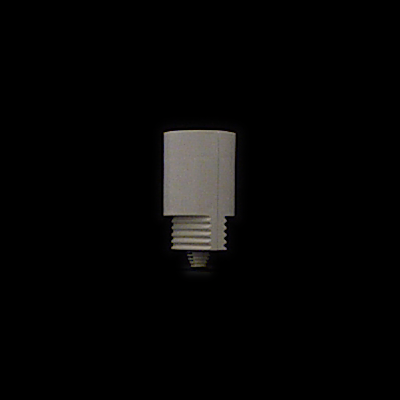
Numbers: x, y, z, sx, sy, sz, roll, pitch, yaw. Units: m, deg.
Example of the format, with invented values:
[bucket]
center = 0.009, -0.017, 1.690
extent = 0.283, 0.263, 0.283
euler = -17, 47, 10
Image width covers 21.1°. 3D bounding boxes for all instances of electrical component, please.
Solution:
[electrical component]
center = 0.000, 0.000, 0.649
extent = 0.043, 0.081, 0.043
euler = 1, 0, 0
